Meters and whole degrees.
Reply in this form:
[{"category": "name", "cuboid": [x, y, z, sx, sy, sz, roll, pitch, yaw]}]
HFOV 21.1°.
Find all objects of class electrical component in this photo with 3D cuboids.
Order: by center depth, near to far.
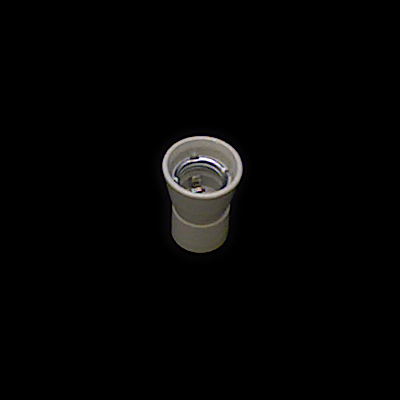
[{"category": "electrical component", "cuboid": [0.000, 0.000, 0.627, 0.044, 0.044, 0.065, 0, -38, -2]}]
